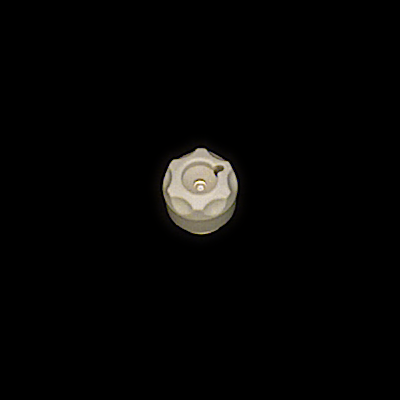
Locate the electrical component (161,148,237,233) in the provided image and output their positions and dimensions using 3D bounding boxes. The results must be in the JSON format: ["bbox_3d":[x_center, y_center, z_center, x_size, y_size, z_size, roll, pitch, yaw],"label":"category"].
[{"bbox_3d":[0.000,0.000,0.634,0.043,0.043,0.062,0,-26,1],"label":"electrical component"}]
